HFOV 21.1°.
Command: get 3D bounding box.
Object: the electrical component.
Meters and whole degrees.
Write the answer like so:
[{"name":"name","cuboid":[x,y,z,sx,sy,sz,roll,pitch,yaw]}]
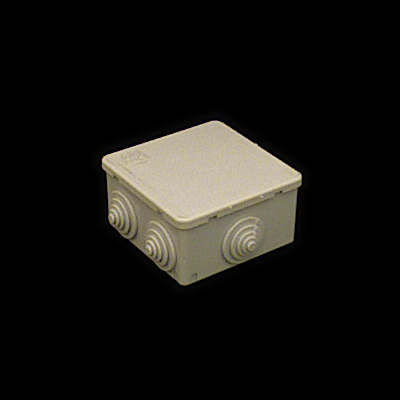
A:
[{"name":"electrical component","cuboid":[0.000,0.000,0.644,0.100,0.049,0.098,-20,38,-30]}]
